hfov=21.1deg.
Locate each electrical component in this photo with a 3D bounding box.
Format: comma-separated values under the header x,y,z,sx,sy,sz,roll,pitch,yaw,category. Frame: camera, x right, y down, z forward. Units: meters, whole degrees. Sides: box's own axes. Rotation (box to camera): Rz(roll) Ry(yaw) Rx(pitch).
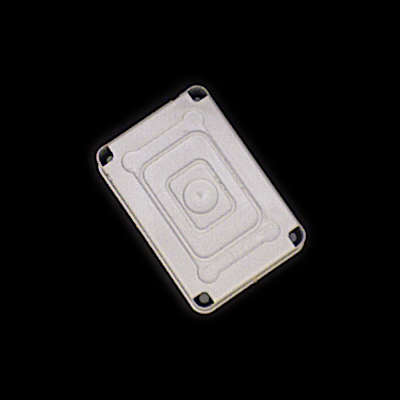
x,y,z,sx,sy,sz,roll,pitch,yaw,category
0.000,0.000,0.629,0.078,0.113,0.057,-34,-5,-3,electrical component
